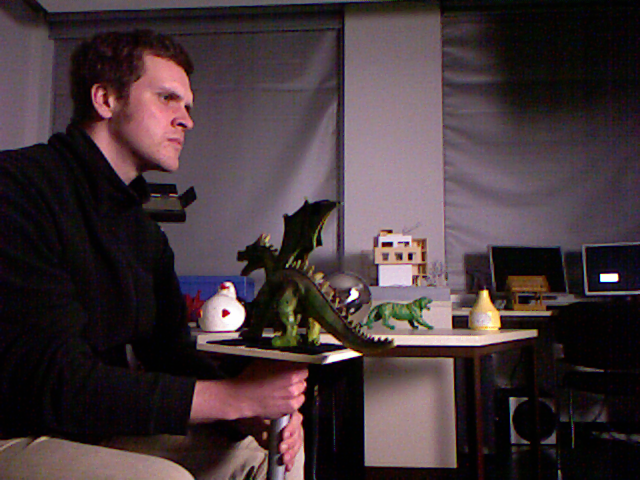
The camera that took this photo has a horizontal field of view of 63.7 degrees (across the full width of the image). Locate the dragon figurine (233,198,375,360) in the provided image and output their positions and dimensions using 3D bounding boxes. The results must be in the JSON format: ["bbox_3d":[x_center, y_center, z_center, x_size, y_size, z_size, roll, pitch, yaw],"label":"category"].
[{"bbox_3d":[-0.033,0.049,0.832,0.122,0.244,0.409,9,-9,-36],"label":"dragon figurine"}]
